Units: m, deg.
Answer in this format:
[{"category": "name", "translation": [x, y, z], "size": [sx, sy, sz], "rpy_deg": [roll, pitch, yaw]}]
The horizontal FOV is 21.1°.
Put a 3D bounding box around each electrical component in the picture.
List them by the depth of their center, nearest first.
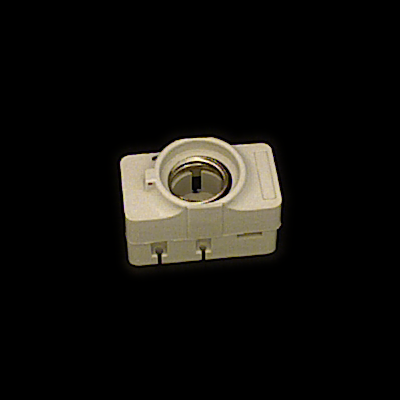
[{"category": "electrical component", "translation": [0.000, 0.000, 0.638], "size": [0.090, 0.050, 0.056], "rpy_deg": [-6, -37, -5]}]
